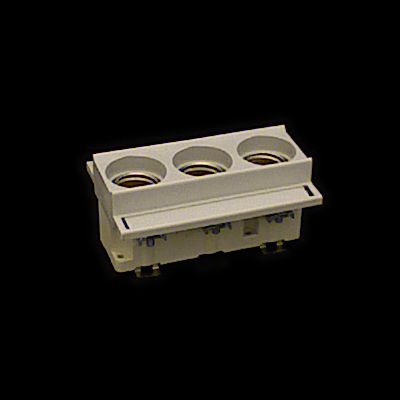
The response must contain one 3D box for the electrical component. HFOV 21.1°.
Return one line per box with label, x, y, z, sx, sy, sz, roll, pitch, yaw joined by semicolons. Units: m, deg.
electrical component;0.000;0.000;0.646;0.121;0.064;0.077;-10;35;-16
